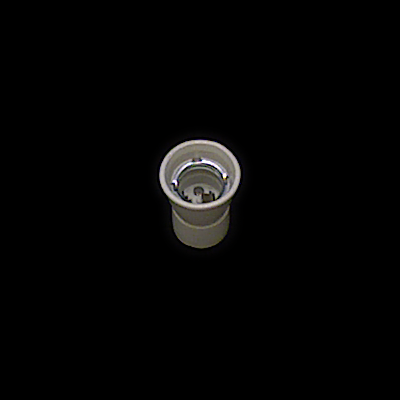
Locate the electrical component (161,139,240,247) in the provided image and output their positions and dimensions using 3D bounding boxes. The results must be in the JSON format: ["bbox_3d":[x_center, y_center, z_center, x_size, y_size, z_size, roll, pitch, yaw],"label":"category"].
[{"bbox_3d":[0.000,0.000,0.626,0.044,0.044,0.065,0,-28,0],"label":"electrical component"}]
